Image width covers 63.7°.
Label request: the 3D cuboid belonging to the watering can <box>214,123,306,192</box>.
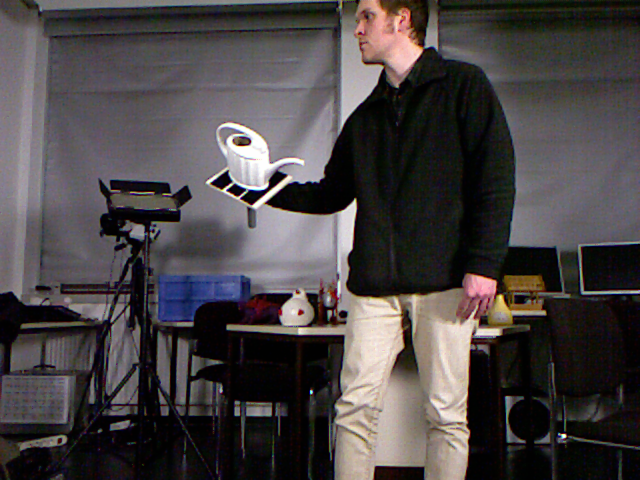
[{"bbox_3d":[-0.195,-0.242,1.622,0.351,0.219,0.106,27,49,21],"label":"watering can"}]
